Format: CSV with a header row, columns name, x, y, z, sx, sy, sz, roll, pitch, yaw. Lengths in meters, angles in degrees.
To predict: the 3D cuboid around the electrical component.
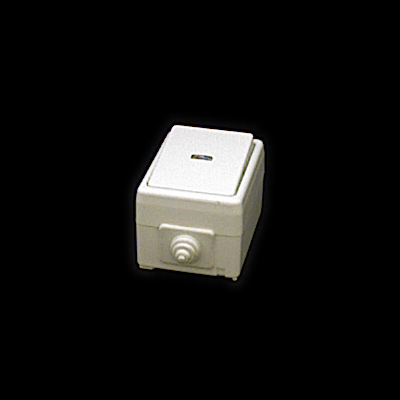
name,x,y,z,sx,sy,sz,roll,pitch,yaw
electrical component,0.000,0.000,0.632,0.061,0.061,0.095,7,32,10
